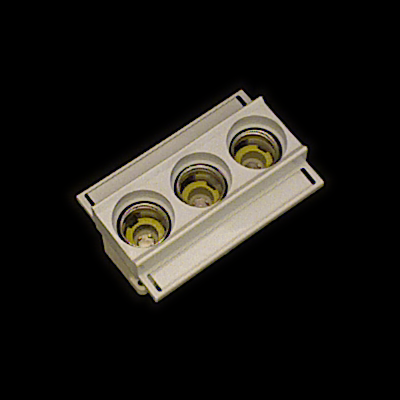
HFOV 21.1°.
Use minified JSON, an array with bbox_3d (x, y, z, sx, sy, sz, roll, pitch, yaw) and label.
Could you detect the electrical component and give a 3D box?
[{"bbox_3d":[0.000,0.000,0.637,0.121,0.078,0.063,-34,-20,-16],"label":"electrical component"}]
